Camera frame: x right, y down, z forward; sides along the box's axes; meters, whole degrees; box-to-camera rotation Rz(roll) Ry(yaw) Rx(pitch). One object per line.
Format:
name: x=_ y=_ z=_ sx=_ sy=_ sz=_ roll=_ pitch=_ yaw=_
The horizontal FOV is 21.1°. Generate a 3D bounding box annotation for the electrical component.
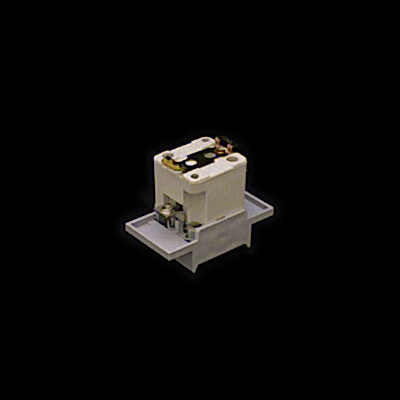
electrical component: x=0.000 y=0.000 z=0.633 sx=0.080 sy=0.064 sz=0.042 roll=-23 pitch=39 yaw=-34
